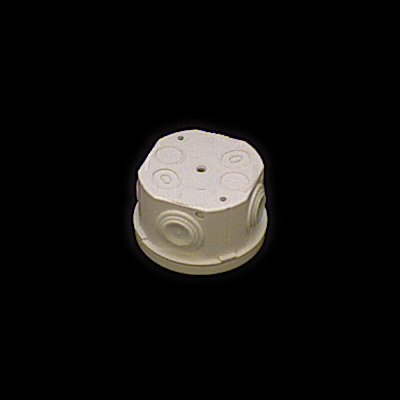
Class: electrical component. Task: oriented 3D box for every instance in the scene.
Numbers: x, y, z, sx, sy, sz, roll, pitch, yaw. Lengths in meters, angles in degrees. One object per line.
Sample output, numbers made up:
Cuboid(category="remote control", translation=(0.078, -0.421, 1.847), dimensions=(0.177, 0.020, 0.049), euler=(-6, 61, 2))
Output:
Cuboid(category="electrical component", translation=(0.000, 0.000, 0.634), dimensions=(0.080, 0.051, 0.080), euler=(1, 43, -1))
